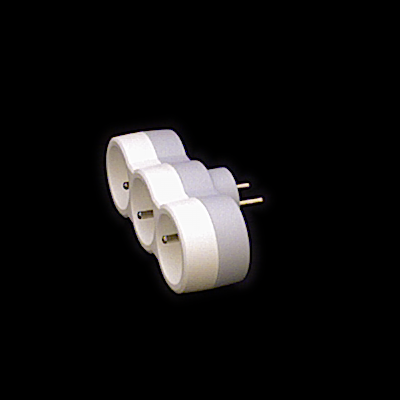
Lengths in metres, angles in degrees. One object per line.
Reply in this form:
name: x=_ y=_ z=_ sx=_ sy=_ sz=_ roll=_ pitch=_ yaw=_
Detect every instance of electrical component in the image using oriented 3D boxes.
electrical component: x=0.000 y=0.000 z=0.639 sx=0.074 sy=0.053 sz=0.136 roll=-10 pitch=32 yaw=-21
